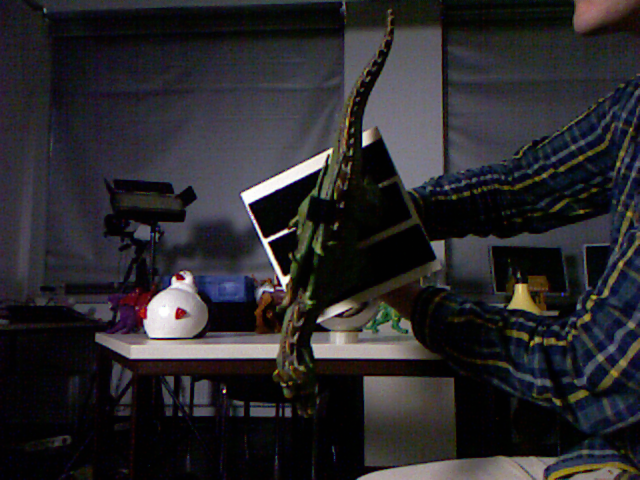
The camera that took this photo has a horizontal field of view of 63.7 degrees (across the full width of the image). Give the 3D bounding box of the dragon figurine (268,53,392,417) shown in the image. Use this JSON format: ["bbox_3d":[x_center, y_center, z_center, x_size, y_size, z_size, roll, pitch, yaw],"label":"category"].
[{"bbox_3d":[0.008,-0.019,0.560,0.123,0.410,0.245,8,6,10],"label":"dragon figurine"}]
